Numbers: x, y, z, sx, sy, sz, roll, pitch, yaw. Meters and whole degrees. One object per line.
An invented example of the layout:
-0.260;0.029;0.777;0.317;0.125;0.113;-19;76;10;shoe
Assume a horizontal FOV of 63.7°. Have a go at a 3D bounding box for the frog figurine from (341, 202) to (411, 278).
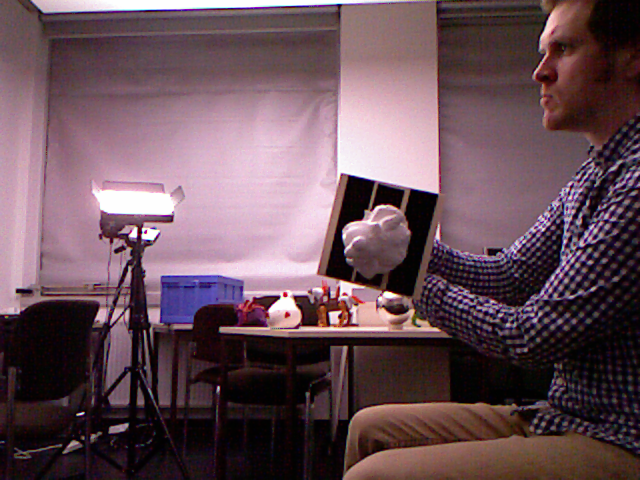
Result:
0.100;-0.001;0.904;0.123;0.137;0.160;31;6;5;frog figurine
